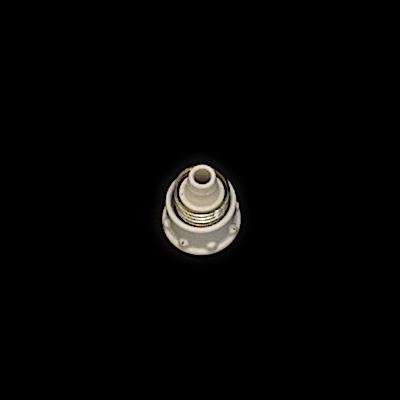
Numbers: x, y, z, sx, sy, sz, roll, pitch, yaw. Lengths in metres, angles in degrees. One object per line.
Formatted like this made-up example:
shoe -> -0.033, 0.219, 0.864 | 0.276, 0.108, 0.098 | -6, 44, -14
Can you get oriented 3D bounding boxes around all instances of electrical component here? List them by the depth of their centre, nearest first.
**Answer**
electrical component -> 0.000, 0.000, 0.634 | 0.048, 0.048, 0.062 | 0, -27, -1
